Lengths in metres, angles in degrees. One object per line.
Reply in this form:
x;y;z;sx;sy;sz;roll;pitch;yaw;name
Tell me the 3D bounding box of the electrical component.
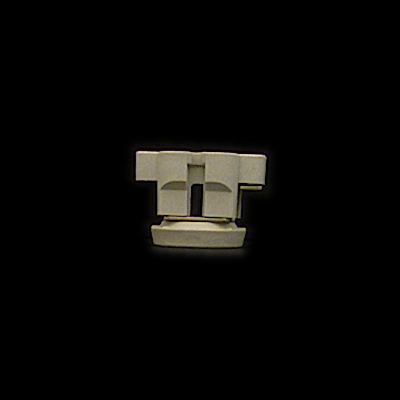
0.000;0.000;0.658;0.078;0.057;0.058;3;1;5;electrical component
